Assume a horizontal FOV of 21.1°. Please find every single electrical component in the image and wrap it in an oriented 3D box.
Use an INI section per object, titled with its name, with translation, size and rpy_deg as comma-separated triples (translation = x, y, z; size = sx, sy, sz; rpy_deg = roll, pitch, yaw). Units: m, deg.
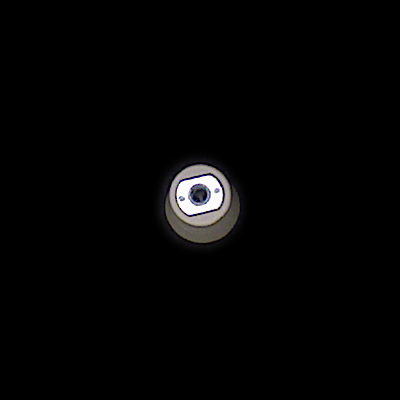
[electrical component]
translation = 0.000, 0.000, 0.626
size = 0.044, 0.044, 0.065
rpy_deg = 0, -7, 1
